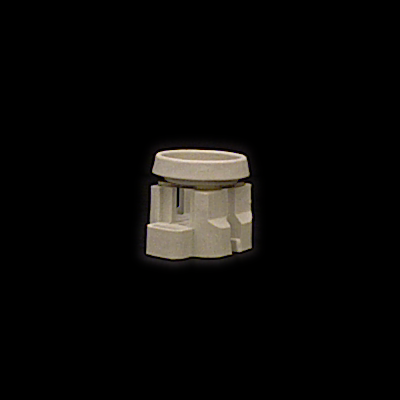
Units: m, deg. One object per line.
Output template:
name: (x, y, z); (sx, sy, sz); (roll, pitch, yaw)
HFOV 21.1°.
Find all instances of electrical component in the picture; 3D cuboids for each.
electrical component: (0.000, 0.000, 0.646); (0.057, 0.057, 0.078); (9, 13, 36)
